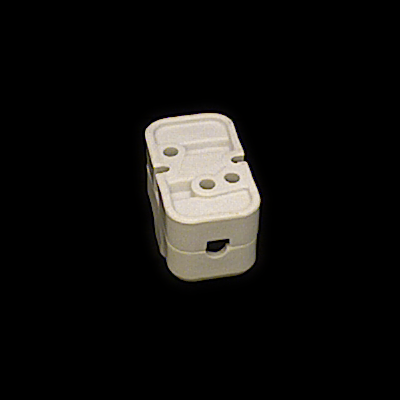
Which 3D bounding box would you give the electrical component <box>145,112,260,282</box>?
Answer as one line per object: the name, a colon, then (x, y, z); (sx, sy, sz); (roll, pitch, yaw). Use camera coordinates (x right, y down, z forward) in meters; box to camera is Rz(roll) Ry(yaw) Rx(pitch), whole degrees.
electrical component: (0.000, 0.000, 0.640); (0.054, 0.060, 0.094); (-8, 43, -9)
